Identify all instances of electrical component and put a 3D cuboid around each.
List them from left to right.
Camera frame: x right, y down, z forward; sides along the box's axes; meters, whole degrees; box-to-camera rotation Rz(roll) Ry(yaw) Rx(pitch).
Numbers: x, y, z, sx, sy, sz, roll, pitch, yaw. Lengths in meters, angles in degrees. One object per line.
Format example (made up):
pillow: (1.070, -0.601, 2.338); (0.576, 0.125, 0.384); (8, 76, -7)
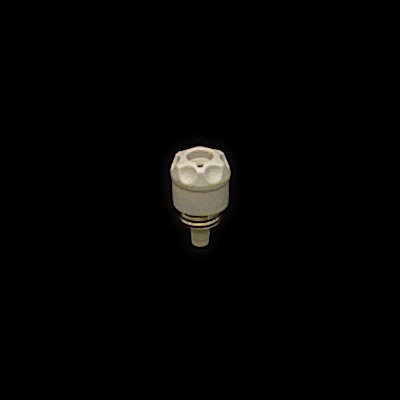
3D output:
electrical component: (0.000, 0.000, 0.639); (0.035, 0.062, 0.035); (1, 32, 0)
